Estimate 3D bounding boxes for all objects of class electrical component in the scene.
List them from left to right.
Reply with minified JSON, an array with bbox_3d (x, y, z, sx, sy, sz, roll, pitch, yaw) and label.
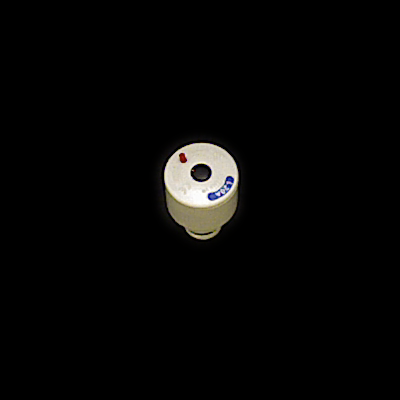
[{"bbox_3d":[0.000,0.000,0.619,0.040,0.040,0.078,0,-28,1],"label":"electrical component"}]
